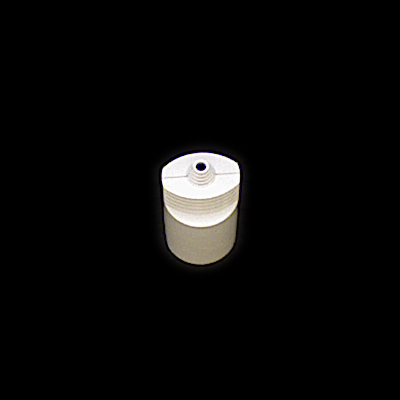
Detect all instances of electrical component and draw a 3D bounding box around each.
[{"bbox_3d":[0.000,0.000,0.617,0.043,0.043,0.081,0,-27,0],"label":"electrical component"}]
